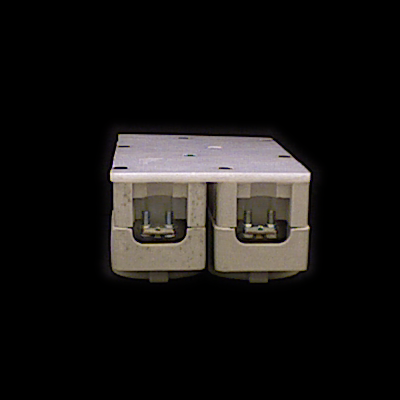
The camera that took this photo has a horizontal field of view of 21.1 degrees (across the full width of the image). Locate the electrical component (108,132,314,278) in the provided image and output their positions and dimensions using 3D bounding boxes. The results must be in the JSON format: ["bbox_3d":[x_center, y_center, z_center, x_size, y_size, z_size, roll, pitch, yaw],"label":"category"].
[{"bbox_3d":[0.000,0.000,0.644,0.105,0.060,0.184,1,10,-3],"label":"electrical component"}]
